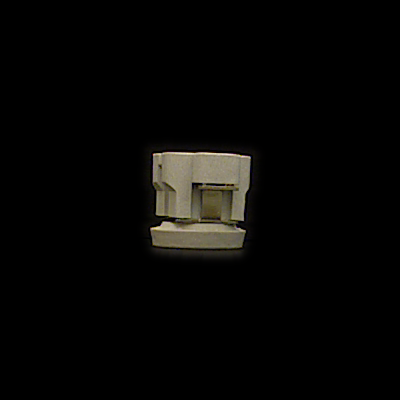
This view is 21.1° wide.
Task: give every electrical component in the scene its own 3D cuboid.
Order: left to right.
[{"bbox_3d":[0.000,0.000,0.655,0.058,0.057,0.078,2,2,-19],"label":"electrical component"}]
